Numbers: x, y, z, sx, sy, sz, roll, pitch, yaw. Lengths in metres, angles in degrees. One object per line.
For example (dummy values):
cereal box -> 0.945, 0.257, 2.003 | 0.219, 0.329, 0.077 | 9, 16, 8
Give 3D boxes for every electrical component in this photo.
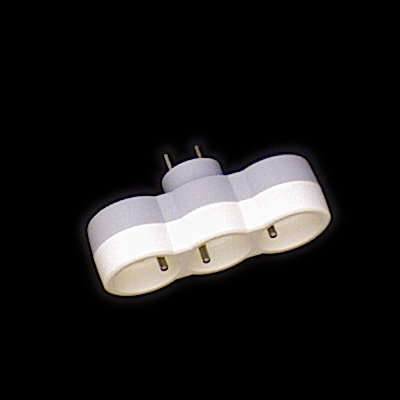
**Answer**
electrical component -> 0.000, 0.000, 0.630 | 0.138, 0.074, 0.052 | -17, -28, -8
